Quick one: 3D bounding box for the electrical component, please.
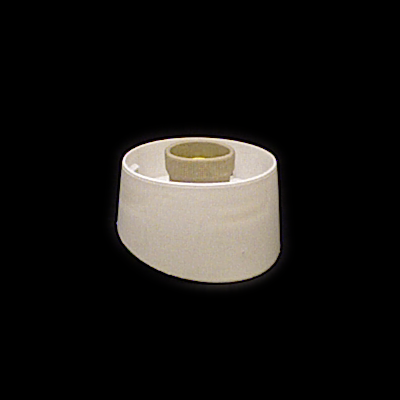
[{"bbox_3d":[0.000,0.000,0.638,0.099,0.065,0.097,1,21,0],"label":"electrical component"}]
